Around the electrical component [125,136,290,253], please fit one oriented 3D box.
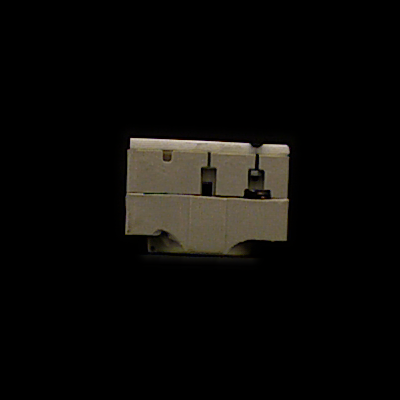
[{"bbox_3d":[0.000,0.000,0.659,0.090,0.062,0.150,2,-1,-3],"label":"electrical component"}]
